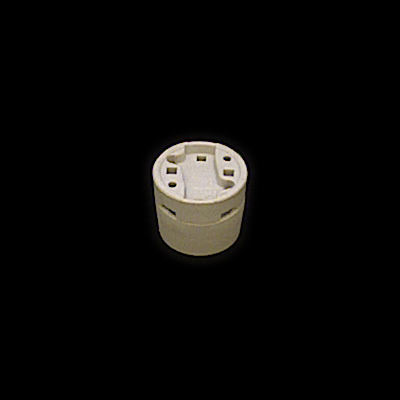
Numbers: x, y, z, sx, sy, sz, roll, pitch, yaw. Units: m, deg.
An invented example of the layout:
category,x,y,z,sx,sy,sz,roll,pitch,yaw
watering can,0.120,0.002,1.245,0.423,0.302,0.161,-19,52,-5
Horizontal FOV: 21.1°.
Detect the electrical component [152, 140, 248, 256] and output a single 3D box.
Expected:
category,x,y,z,sx,sy,sz,roll,pitch,yaw
electrical component,0.000,0.000,0.635,0.055,0.047,0.055,0,42,0
